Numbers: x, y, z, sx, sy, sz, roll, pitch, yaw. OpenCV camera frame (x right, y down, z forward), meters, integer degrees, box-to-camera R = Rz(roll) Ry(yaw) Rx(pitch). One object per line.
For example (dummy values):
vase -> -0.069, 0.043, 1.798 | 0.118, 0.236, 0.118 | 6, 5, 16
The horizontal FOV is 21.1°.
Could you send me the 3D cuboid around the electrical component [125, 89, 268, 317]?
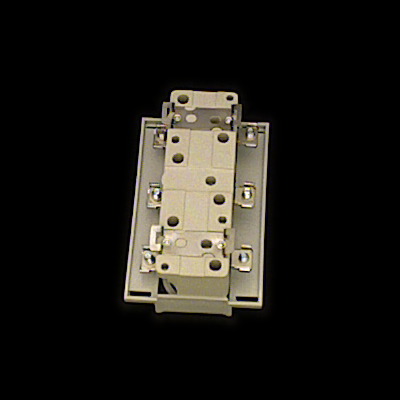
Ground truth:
electrical component -> 0.000, 0.000, 0.633 | 0.079, 0.121, 0.063 | 2, -27, 2
